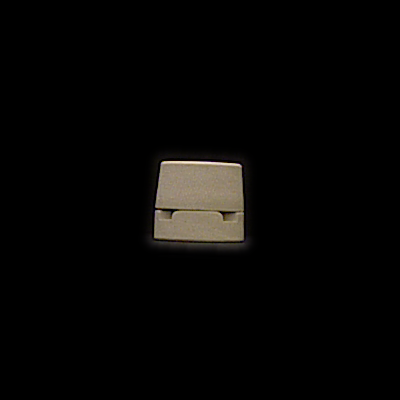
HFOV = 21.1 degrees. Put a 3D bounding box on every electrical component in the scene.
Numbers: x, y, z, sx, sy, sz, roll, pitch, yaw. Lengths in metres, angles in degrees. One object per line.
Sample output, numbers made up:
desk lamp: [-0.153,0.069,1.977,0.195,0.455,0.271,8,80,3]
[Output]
electrical component: [0.000,0.000,0.650,0.055,0.047,0.055,2,1,0]
